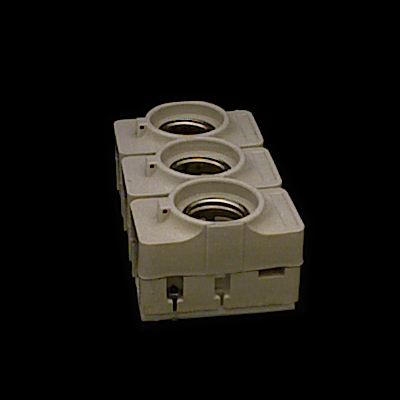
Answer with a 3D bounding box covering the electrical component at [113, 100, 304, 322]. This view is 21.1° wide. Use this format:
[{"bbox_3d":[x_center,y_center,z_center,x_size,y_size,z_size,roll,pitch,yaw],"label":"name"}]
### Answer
[{"bbox_3d":[0.000,0.000,0.639,0.090,0.063,0.146,-5,31,-8],"label":"electrical component"}]
